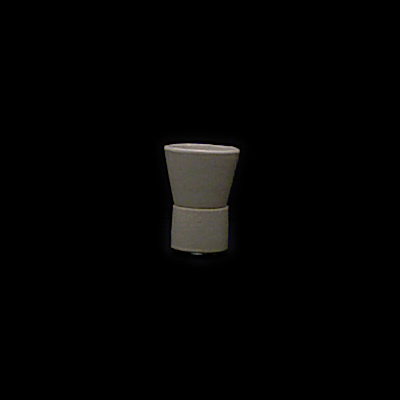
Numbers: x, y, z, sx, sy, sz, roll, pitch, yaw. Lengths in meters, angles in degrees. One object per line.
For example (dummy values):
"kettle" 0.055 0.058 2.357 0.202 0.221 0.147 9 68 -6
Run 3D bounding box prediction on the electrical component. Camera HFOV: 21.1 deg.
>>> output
"electrical component" 0.000 0.000 0.646 0.044 0.066 0.044 1 10 0
